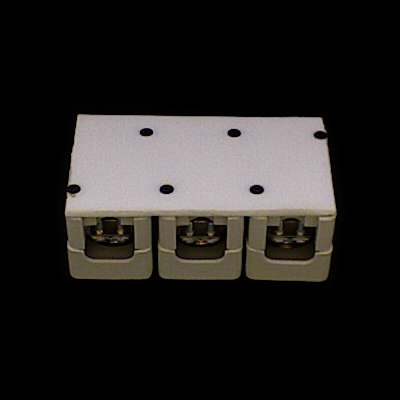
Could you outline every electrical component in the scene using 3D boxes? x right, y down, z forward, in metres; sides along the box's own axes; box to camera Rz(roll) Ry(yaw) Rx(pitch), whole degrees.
[{"bbox_3d":[0.000,0.000,0.638,0.150,0.063,0.087,1,42,0],"label":"electrical component"}]
